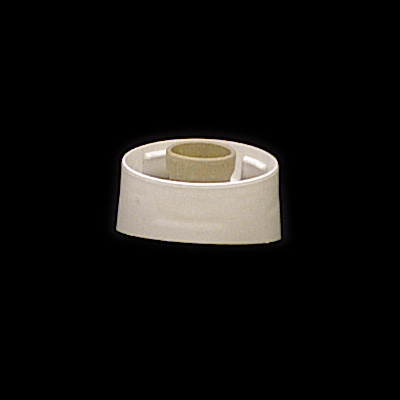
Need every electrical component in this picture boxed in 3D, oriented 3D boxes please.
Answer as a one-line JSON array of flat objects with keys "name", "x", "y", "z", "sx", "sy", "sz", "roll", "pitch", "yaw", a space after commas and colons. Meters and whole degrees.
[{"name": "electrical component", "x": 0.000, "y": 0.000, "z": 0.638, "sx": 0.099, "sy": 0.065, "sz": 0.097, "roll": 1, "pitch": 20, "yaw": 0}]
